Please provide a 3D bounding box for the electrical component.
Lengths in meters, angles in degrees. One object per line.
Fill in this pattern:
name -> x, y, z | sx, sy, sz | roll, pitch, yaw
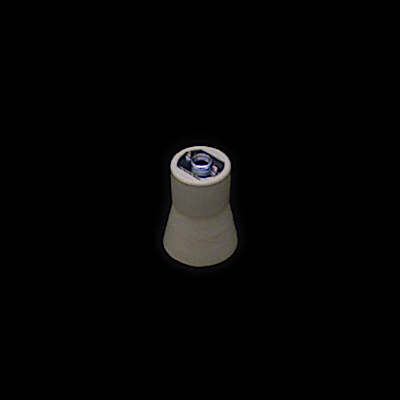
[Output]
electrical component -> 0.000, 0.000, 0.629 | 0.044, 0.066, 0.044 | 0, 43, 0
